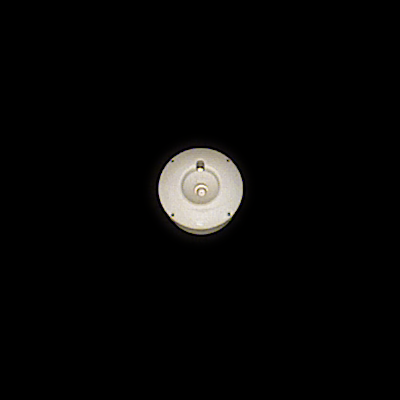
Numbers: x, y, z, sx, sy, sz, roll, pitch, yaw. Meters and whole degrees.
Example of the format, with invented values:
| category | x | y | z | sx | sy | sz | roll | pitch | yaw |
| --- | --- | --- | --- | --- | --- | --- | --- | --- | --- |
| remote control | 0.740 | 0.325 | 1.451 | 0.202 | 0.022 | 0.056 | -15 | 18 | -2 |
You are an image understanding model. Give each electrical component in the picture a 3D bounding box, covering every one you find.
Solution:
| category | x | y | z | sx | sy | sz | roll | pitch | yaw |
| --- | --- | --- | --- | --- | --- | --- | --- | --- | --- |
| electrical component | 0.000 | 0.000 | 0.633 | 0.048 | 0.048 | 0.061 | 0 | -16 | 1 |
